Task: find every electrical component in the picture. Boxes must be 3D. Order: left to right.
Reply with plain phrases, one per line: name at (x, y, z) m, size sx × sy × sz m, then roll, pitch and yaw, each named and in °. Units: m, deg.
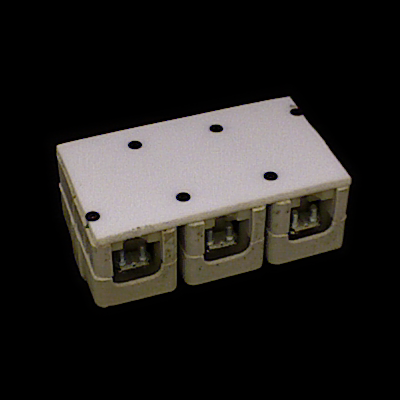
electrical component at (0.000, 0.000, 0.634) m, size 0.150 × 0.063 × 0.088 m, roll -13°, pitch 43°, yaw -15°
